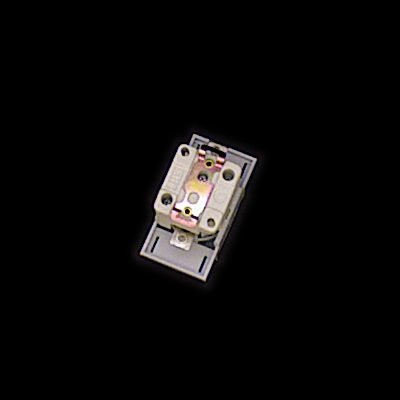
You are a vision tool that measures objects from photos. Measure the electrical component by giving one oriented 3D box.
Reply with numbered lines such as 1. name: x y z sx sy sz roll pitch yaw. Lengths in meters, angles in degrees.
1. electrical component: 0.000 0.000 0.625 0.042 0.081 0.063 21 -16 6
